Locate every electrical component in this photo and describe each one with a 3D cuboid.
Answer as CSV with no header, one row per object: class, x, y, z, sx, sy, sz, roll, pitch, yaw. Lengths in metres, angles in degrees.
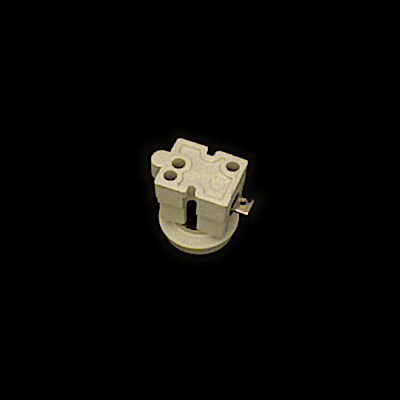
electrical component,0.000,0.000,0.638,0.066,0.048,0.055,18,-36,12
